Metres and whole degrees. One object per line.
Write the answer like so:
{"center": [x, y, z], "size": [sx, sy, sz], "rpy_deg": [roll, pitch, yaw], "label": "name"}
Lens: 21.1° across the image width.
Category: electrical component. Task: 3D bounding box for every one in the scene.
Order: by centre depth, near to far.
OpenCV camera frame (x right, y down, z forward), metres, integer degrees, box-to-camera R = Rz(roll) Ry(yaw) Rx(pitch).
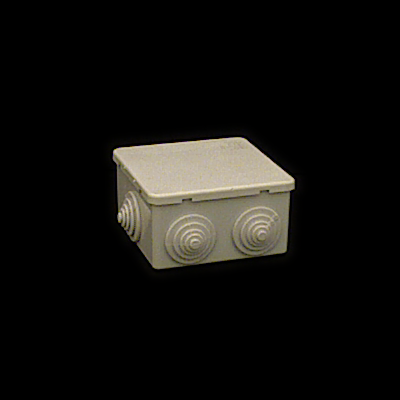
{"center": [0.000, 0.000, 0.650], "size": [0.100, 0.049, 0.098], "rpy_deg": [-6, 23, -18], "label": "electrical component"}
